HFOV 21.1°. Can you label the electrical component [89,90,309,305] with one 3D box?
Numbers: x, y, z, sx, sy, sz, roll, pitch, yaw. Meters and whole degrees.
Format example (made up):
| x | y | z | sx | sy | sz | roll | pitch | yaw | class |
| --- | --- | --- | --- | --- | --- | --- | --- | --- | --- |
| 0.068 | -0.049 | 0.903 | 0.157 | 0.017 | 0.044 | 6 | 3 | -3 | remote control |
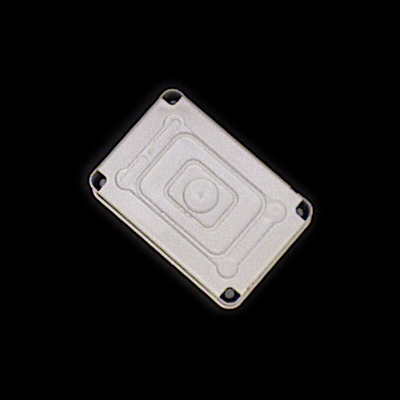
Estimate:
| x | y | z | sx | sy | sz | roll | pitch | yaw | class |
| --- | --- | --- | --- | --- | --- | --- | --- | --- | --- |
| 0.000 | 0.000 | 0.628 | 0.113 | 0.078 | 0.057 | 41 | -4 | 5 | electrical component |
